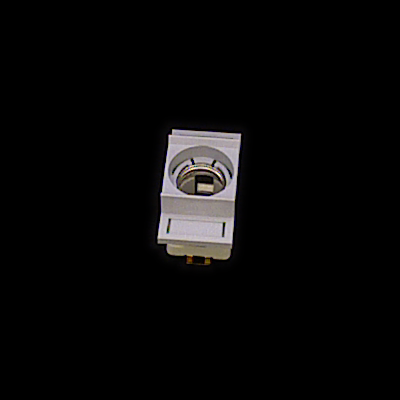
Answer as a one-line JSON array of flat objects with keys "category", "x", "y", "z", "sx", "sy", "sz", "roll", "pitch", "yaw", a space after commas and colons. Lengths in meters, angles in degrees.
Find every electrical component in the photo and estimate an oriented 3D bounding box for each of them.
[{"category": "electrical component", "x": 0.000, "y": 0.000, "z": 0.628, "sx": 0.042, "sy": 0.080, "sz": 0.064, "roll": 4, "pitch": -37, "yaw": 4}]
